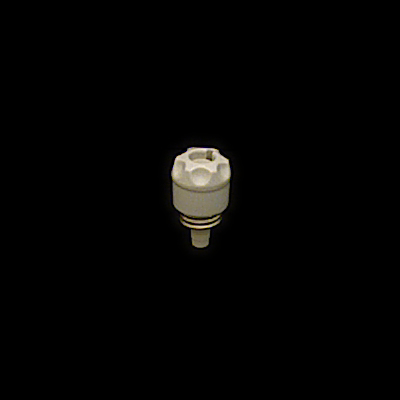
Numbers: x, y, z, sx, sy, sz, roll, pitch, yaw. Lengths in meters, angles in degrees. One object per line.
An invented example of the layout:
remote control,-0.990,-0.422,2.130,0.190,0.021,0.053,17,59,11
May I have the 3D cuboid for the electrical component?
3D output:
electrical component,0.000,0.000,0.642,0.035,0.062,0.034,1,32,0
